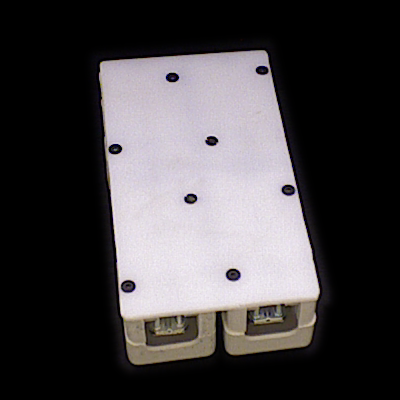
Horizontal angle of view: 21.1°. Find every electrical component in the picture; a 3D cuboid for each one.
[{"bbox_3d":[0.000,0.000,0.627,0.105,0.185,0.060,-5,-38,-5],"label":"electrical component"}]
